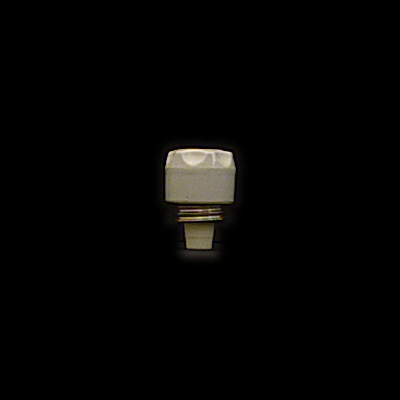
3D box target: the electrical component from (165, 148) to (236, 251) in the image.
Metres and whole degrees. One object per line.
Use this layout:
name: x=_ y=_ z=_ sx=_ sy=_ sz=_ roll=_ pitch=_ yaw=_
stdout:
electrical component: x=0.000 y=0.000 z=0.655 sx=0.043 sy=0.062 sz=0.043 roll=1 pitch=2 yaw=0
